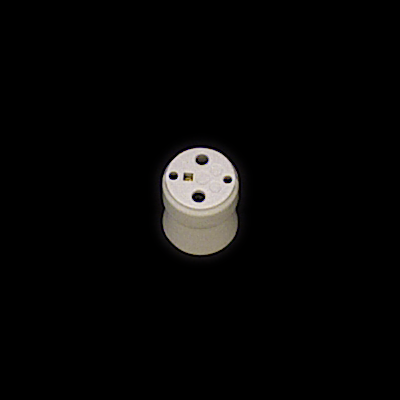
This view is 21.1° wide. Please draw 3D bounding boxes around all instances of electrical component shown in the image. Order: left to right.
[{"bbox_3d":[0.000,0.000,0.629,0.045,0.045,0.055,0,-27,-1],"label":"electrical component"}]
